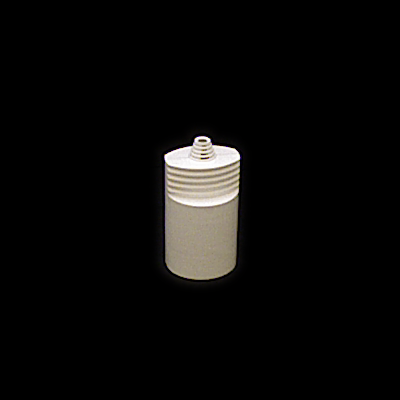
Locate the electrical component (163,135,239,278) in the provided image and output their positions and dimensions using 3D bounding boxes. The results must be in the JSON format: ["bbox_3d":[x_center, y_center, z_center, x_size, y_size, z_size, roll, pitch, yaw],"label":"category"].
[{"bbox_3d":[0.000,0.000,0.629,0.043,0.082,0.042,1,31,0],"label":"electrical component"}]
